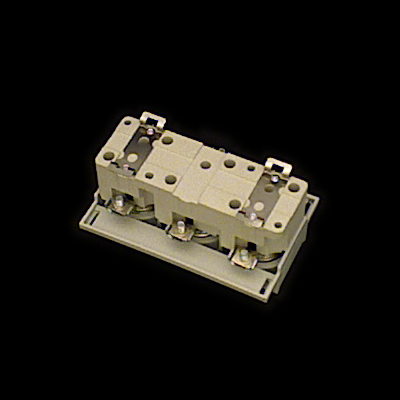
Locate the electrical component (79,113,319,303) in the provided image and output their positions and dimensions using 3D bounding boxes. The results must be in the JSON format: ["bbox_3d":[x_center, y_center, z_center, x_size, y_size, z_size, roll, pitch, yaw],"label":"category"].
[{"bbox_3d":[0.000,0.000,0.633,0.121,0.079,0.063,21,-34,15],"label":"electrical component"}]
